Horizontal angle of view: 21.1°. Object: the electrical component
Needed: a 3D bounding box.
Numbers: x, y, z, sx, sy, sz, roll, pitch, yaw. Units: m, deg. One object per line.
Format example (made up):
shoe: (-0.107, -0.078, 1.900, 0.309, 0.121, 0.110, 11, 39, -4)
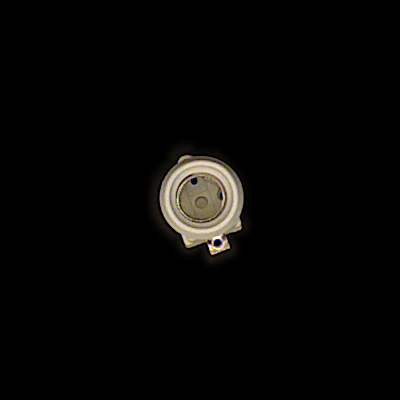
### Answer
electrical component: (0.000, 0.000, 0.639, 0.048, 0.066, 0.055, -22, -6, 1)
